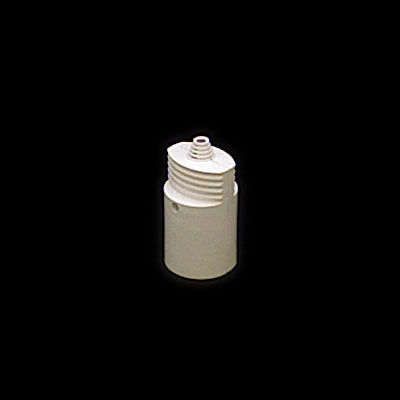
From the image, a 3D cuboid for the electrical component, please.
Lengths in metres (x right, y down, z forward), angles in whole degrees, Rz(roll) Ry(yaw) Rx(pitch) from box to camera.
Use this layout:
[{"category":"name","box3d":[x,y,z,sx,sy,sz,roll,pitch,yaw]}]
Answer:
[{"category":"electrical component","box3d":[0.000,0.000,0.629,0.043,0.082,0.042,1,31,0]}]
